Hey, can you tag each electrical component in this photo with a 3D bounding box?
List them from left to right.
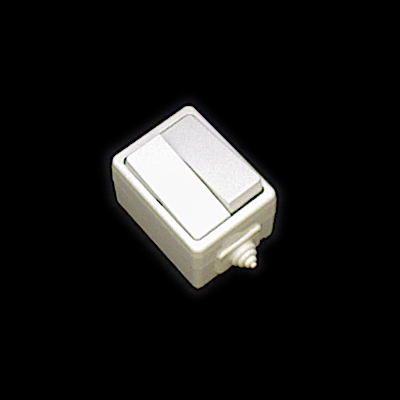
[{"bbox_3d":[0.000,0.000,0.625,0.062,0.096,0.060,-36,-22,-17],"label":"electrical component"}]
